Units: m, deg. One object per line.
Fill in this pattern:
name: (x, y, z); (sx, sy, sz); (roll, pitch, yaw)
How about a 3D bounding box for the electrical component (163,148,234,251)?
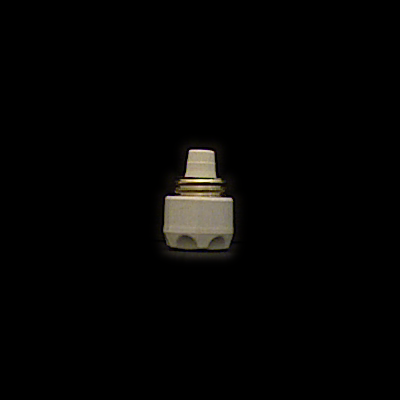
electrical component: (0.000, 0.000, 0.657); (0.043, 0.062, 0.043); (2, 1, 0)
